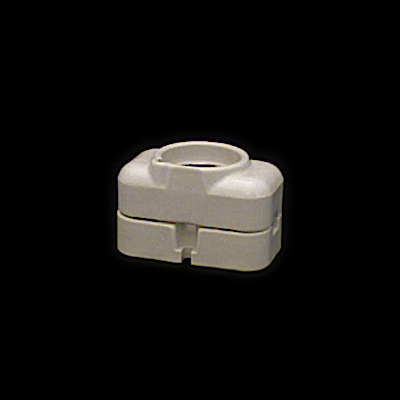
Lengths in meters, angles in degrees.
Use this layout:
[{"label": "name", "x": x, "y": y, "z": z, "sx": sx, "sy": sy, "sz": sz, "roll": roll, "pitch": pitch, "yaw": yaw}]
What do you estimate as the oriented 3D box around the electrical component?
[{"label": "electrical component", "x": 0.000, "y": 0.000, "z": 0.644, "sx": 0.094, "sy": 0.060, "sz": 0.053, "roll": 7, "pitch": 22, "yaw": 15}]
